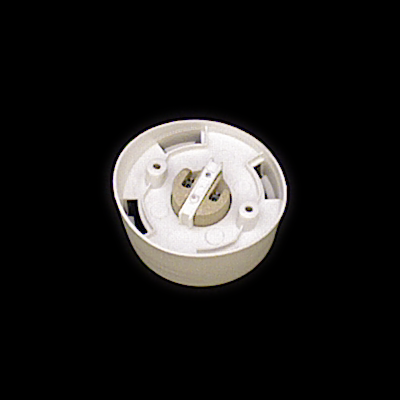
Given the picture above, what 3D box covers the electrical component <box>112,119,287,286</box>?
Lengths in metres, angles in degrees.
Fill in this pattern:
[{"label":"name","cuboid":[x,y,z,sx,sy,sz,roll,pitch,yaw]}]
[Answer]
[{"label":"electrical component","cuboid":[0.000,0.000,0.624,0.099,0.099,0.064,0,-27,0]}]
